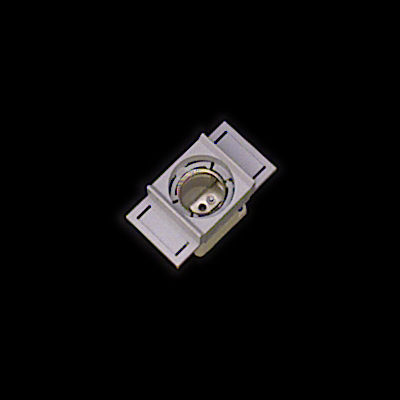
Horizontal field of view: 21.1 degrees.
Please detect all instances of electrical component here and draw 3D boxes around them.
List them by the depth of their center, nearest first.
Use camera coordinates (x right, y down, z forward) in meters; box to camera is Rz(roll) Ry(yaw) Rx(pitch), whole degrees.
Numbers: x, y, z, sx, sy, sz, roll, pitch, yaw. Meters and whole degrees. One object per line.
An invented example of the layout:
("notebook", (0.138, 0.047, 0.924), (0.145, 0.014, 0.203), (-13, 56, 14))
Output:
("electrical component", (0.000, 0.000, 0.624), (0.042, 0.081, 0.063), (43, -12, 13))
